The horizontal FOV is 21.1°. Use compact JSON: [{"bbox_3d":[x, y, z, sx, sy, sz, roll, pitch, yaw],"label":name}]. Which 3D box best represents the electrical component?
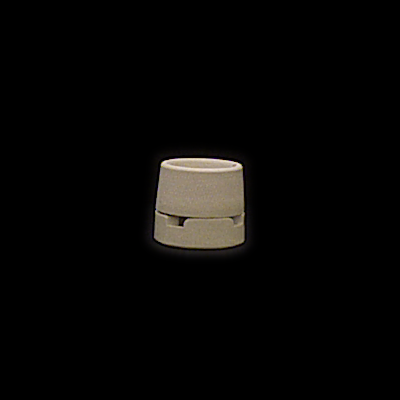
[{"bbox_3d":[0.000,0.000,0.646,0.055,0.047,0.055,2,11,0],"label":"electrical component"}]
